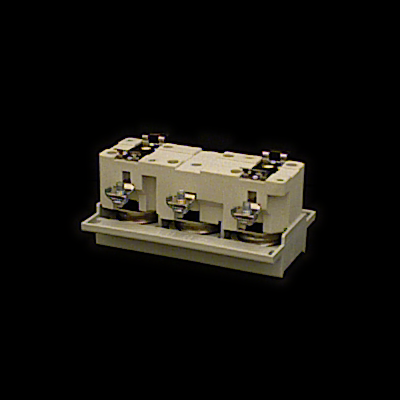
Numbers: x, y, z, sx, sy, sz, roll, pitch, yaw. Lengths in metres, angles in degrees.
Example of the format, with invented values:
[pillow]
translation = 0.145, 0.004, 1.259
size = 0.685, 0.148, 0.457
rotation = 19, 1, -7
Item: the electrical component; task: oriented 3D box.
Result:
[electrical component]
translation = 0.000, 0.000, 0.649
size = 0.120, 0.064, 0.078
rotation = 10, 23, 20
